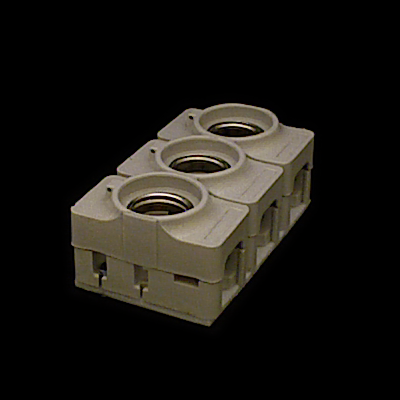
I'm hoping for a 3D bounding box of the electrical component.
[{"bbox_3d":[0.000,0.000,0.640,0.089,0.063,0.148,14,33,22],"label":"electrical component"}]
